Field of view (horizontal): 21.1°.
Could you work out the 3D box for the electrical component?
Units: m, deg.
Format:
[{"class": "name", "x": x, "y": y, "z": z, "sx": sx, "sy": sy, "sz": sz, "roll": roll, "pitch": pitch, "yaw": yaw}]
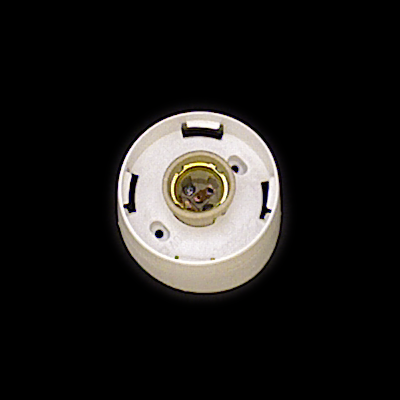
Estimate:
[{"class": "electrical component", "x": 0.000, "y": 0.000, "z": 0.624, "sx": 0.099, "sy": 0.099, "sz": 0.064, "roll": 0, "pitch": -16, "yaw": -1}]
